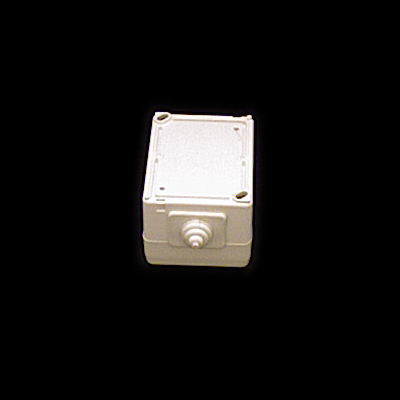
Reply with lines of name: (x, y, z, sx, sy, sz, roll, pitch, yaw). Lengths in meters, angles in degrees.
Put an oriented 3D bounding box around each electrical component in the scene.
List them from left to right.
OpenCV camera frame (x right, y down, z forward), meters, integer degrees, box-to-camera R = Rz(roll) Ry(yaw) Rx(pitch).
electrical component: (0.000, 0.000, 0.630, 0.062, 0.061, 0.095, 2, 43, 1)
